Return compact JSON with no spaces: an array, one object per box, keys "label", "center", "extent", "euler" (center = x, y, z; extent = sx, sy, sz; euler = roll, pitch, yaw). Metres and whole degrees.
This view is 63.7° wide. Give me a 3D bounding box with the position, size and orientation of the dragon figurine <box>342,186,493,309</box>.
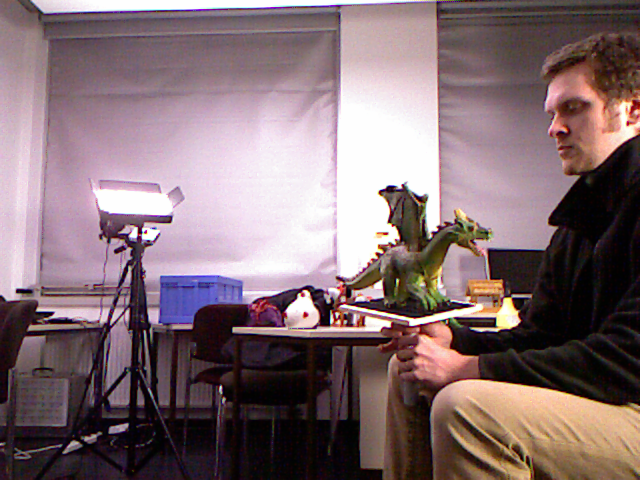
[{"label":"dragon figurine","center":[0.163,0.011,1.048],"extent":[0.123,0.242,0.410],"euler":[-7,6,-39]}]
